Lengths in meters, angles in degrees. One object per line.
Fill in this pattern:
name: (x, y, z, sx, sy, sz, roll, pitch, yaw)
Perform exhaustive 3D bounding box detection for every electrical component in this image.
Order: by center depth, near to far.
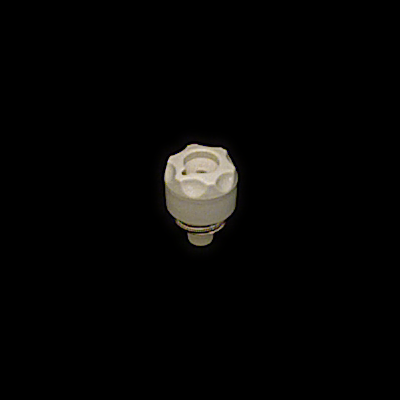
electrical component: (0.000, 0.000, 0.639, 0.043, 0.062, 0.043, 1, 42, 0)
